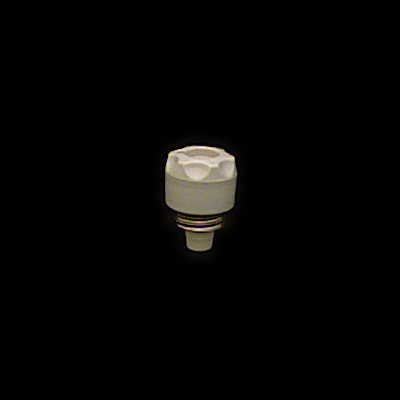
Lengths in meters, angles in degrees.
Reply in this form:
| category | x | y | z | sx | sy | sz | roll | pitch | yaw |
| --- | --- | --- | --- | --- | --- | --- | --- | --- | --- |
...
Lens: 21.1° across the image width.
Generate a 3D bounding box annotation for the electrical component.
| category | x | y | z | sx | sy | sz | roll | pitch | yaw |
| --- | --- | --- | --- | --- | --- | --- | --- | --- | --- |
| electrical component | 0.000 | 0.000 | 0.646 | 0.043 | 0.063 | 0.043 | 2 | 22 | 0 |
